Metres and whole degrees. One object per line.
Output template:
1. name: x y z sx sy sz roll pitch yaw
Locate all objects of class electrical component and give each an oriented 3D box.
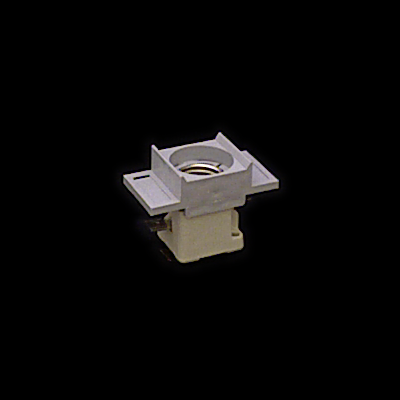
1. electrical component: 0.000 0.000 0.631 0.081 0.064 0.041 -12 35 -22
